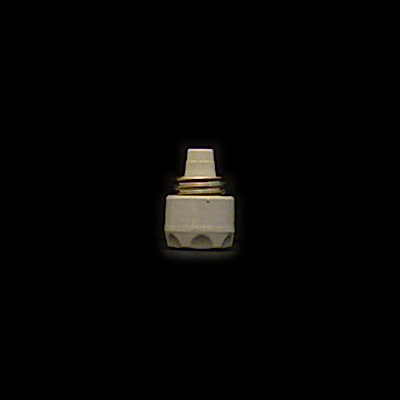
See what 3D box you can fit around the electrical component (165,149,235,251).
[{"bbox_3d":[0.000,0.000,0.655,0.043,0.062,0.043,0,3,1],"label":"electrical component"}]
